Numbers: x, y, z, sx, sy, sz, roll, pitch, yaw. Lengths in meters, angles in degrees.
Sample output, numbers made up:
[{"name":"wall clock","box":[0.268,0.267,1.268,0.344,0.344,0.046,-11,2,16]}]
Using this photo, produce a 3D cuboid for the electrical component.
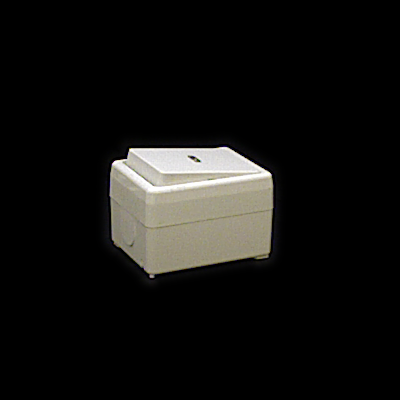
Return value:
[{"name":"electrical component","box":[0.000,0.000,0.639,0.096,0.061,0.061,-9,23,-24]}]
